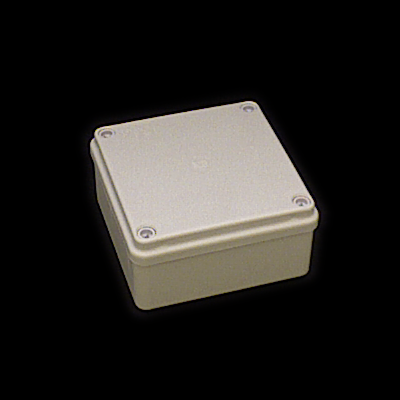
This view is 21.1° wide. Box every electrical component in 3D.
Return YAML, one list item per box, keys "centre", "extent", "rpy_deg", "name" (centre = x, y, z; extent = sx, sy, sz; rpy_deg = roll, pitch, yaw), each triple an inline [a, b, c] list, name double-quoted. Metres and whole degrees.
- centre: [0.000, 0.000, 0.631]
  extent: [0.109, 0.056, 0.107]
  rpy_deg: [-11, 44, -13]
  name: "electrical component"
